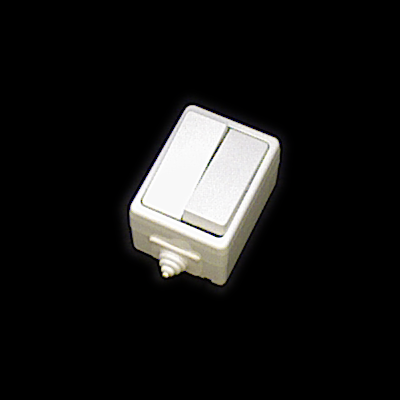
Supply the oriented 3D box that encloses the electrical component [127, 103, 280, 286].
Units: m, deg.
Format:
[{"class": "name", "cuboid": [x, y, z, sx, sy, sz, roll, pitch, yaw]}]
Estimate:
[{"class": "electrical component", "cuboid": [0.000, 0.000, 0.625, 0.061, 0.097, 0.060, 23, -25, 12]}]
